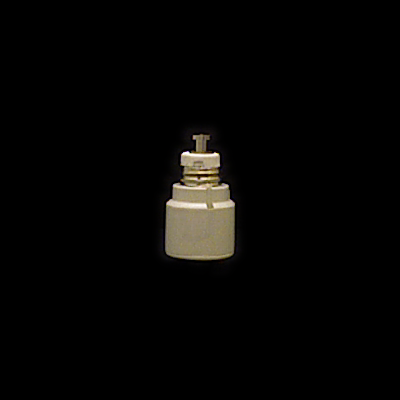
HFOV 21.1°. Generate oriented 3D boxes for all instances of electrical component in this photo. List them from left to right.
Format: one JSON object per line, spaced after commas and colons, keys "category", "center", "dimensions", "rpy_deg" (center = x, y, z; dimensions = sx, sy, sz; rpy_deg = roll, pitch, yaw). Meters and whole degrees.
{"category": "electrical component", "center": [0.000, 0.000, 0.640], "dimensions": [0.040, 0.079, 0.040], "rpy_deg": [0, 10, 0]}
